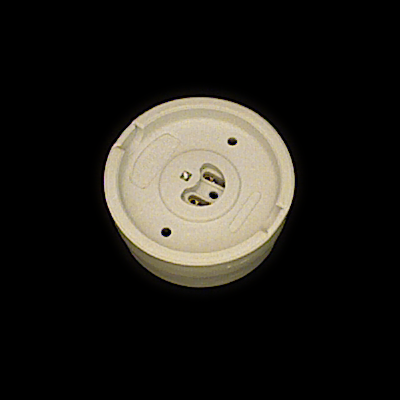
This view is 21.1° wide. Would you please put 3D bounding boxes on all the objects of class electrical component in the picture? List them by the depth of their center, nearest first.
[{"bbox_3d":[0.000,0.000,0.633,0.108,0.108,0.060,0,-26,-1],"label":"electrical component"}]
